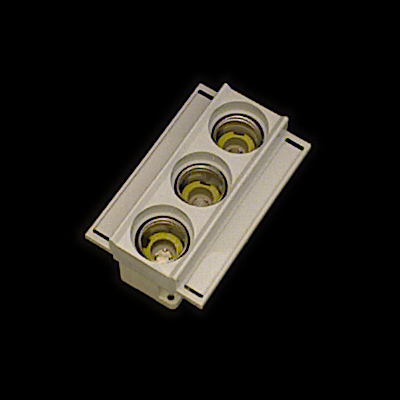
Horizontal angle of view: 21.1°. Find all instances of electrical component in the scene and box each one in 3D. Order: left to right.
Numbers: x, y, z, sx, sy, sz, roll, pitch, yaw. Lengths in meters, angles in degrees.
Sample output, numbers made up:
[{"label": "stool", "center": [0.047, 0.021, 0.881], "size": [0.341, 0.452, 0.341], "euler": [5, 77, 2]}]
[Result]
[{"label": "electrical component", "center": [0.000, 0.000, 0.638], "size": [0.078, 0.121, 0.063], "euler": [30, -23, 13]}]
